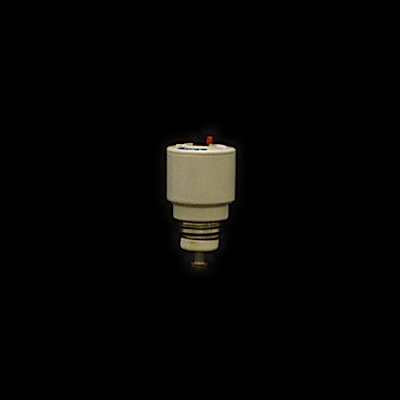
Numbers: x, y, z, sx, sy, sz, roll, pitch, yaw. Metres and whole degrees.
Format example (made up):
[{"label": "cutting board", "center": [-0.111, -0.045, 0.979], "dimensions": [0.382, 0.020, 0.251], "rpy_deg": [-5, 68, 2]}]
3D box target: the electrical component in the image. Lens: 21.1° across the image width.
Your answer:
[{"label": "electrical component", "center": [0.000, 0.000, 0.644], "dimensions": [0.040, 0.079, 0.040], "rpy_deg": [1, 11, 0]}]
